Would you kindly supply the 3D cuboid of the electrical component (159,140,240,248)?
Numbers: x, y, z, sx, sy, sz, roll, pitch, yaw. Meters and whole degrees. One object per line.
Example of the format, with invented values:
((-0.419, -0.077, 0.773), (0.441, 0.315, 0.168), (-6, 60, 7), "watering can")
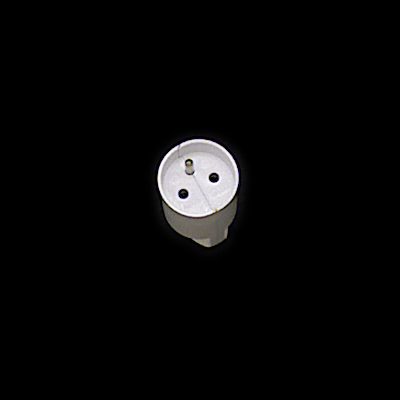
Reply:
((0.000, 0.000, 0.615), (0.043, 0.043, 0.080), (0, -17, 0), "electrical component")
